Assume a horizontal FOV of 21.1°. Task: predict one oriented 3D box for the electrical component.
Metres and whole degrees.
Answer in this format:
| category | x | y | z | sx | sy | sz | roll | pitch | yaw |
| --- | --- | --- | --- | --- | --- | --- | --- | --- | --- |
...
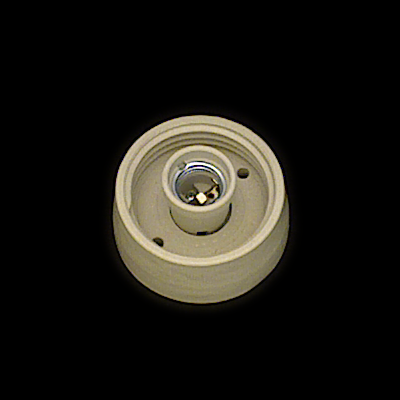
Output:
| category | x | y | z | sx | sy | sz | roll | pitch | yaw |
| --- | --- | --- | --- | --- | --- | --- | --- | --- | --- |
| electrical component | 0.000 | 0.000 | 0.634 | 0.108 | 0.108 | 0.060 | 0 | -26 | 0 |
